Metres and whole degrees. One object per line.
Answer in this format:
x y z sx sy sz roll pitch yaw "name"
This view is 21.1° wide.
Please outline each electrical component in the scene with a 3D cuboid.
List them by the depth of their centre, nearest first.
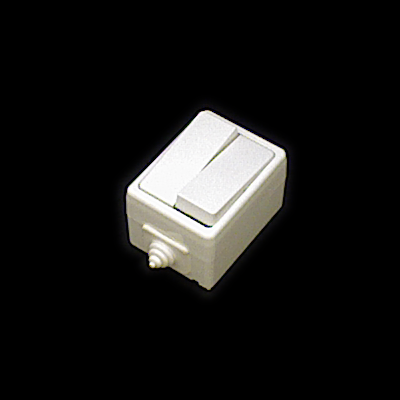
0.000 0.000 0.627 0.061 0.096 0.061 30 -33 21 "electrical component"
